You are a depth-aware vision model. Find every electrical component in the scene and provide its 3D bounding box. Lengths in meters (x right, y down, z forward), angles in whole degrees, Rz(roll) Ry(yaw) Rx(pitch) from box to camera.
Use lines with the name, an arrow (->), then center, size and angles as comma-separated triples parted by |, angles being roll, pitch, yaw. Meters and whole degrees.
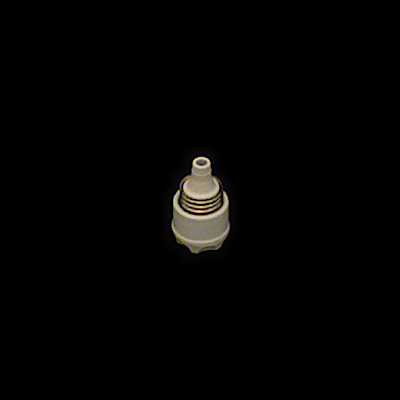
electrical component -> 0.000, 0.000, 0.642 | 0.035, 0.062, 0.035 | 1, 42, -1
